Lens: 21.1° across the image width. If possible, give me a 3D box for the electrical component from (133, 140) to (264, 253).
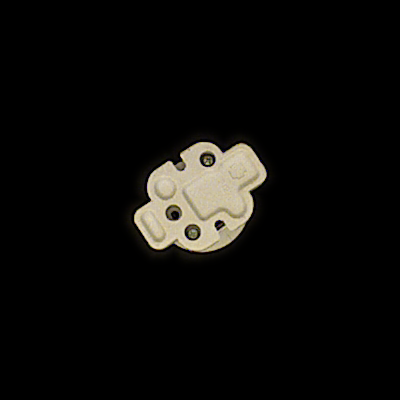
[{"bbox_3d":[0.000,0.000,0.637,0.079,0.058,0.056,-34,-6,-4],"label":"electrical component"}]
